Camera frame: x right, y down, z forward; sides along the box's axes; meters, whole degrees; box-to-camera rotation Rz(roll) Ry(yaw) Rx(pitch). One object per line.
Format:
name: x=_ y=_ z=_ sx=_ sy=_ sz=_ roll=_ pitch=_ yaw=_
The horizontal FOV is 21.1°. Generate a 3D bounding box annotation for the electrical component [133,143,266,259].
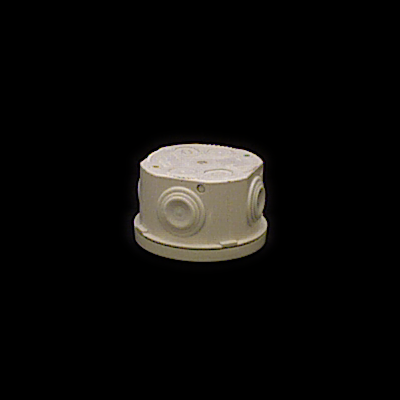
electrical component: x=0.000 y=0.000 z=0.642 sx=0.080 sy=0.051 sz=0.079 roll=1 pitch=21 yaw=0
